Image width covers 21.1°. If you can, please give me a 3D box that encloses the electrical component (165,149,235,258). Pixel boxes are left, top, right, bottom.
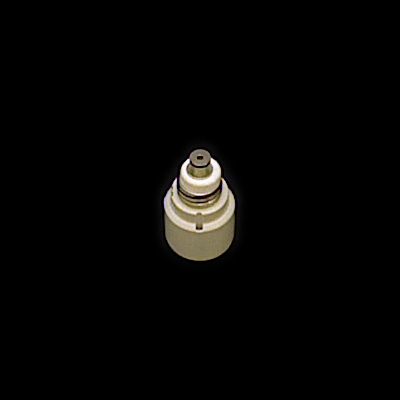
[{"bbox_3d":[0.000,0.000,0.622,0.040,0.040,0.079,0,-37,-1],"label":"electrical component"}]
